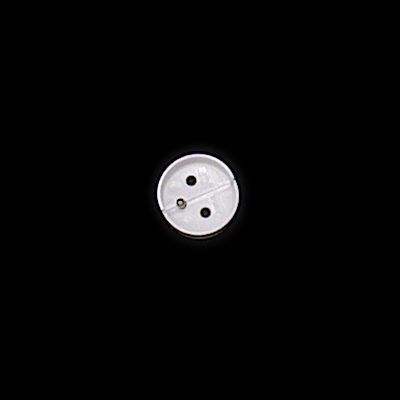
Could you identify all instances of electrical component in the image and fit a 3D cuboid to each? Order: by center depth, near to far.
[{"bbox_3d":[0.000,0.000,0.615,0.043,0.043,0.080,0,-6,1],"label":"electrical component"}]
